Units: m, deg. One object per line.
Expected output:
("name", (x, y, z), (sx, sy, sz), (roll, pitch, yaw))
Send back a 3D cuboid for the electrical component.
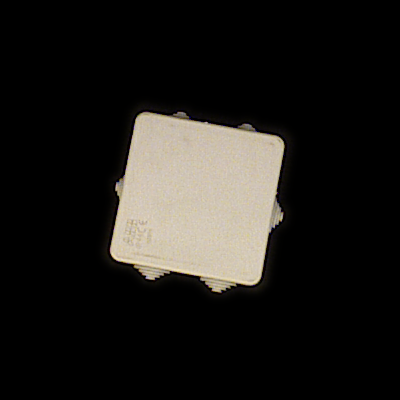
("electrical component", (0.000, 0.000, 0.642), (0.100, 0.100, 0.048), (11, -6, 1))
